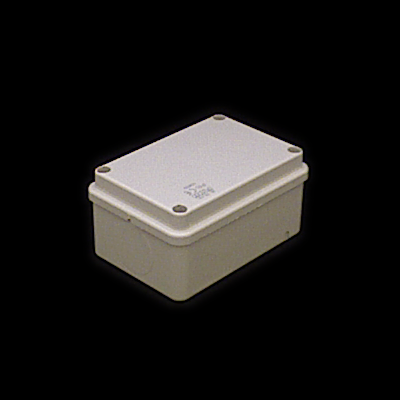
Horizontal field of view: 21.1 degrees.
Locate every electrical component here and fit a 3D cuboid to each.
[{"bbox_3d":[0.000,0.000,0.633,0.077,0.058,0.113,27,39,36],"label":"electrical component"}]
